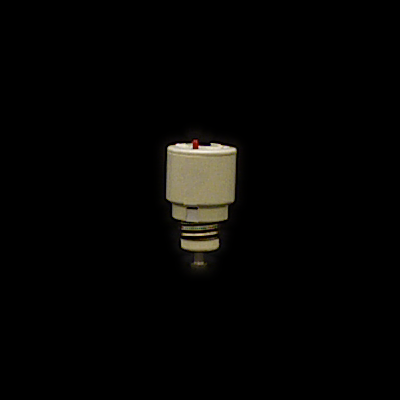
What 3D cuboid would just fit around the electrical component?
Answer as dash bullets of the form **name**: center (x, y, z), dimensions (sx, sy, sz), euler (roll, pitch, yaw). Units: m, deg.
- **electrical component**: center (0.000, 0.000, 0.640), dimensions (0.040, 0.079, 0.040), euler (1, 12, 0)
